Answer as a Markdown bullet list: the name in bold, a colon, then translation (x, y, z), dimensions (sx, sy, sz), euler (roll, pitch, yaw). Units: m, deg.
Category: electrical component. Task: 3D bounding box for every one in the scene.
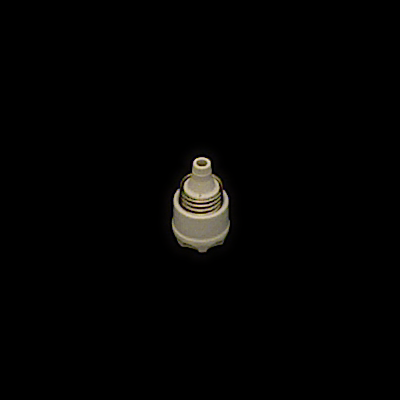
- **electrical component**: translation (0.000, 0.000, 0.644), dimensions (0.035, 0.062, 0.034), euler (1, 44, 0)
